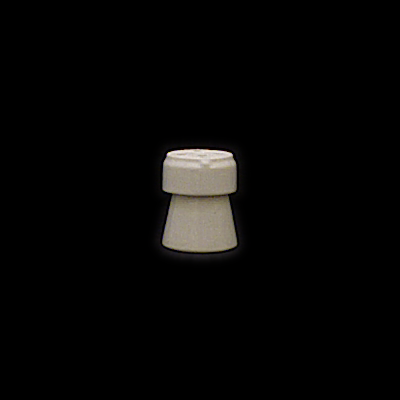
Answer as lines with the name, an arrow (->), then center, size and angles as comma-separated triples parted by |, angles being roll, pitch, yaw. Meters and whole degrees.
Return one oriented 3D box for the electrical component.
electrical component -> 0.000, 0.000, 0.644 | 0.045, 0.055, 0.044 | 1, 11, 0
